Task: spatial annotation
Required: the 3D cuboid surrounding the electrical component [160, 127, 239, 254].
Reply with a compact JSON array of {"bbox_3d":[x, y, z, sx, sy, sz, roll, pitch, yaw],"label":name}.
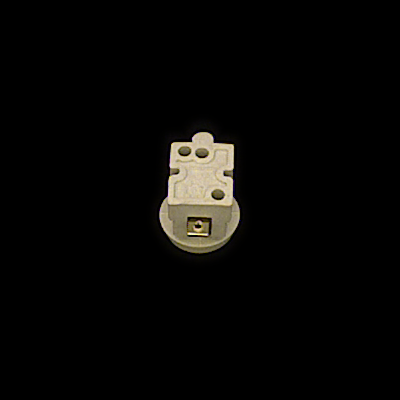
[{"bbox_3d":[0.000,0.000,0.639,0.048,0.066,0.055,2,-36,0],"label":"electrical component"}]
